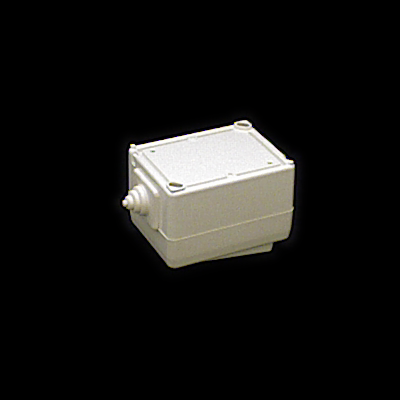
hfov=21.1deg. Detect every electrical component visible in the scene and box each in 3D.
[{"bbox_3d":[0.000,0.000,0.629,0.096,0.061,0.061,-14,35,-23],"label":"electrical component"}]
